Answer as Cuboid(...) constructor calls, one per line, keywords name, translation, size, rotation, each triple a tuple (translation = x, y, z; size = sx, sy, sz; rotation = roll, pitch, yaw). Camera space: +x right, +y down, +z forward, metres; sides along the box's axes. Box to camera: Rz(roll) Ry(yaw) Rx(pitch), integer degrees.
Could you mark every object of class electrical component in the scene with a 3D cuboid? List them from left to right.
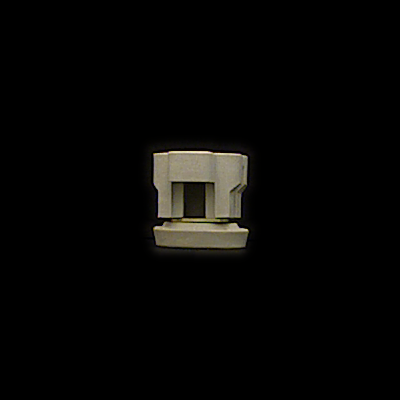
Cuboid(name="electrical component", translation=(0.000, 0.000, 0.658), size=(0.057, 0.057, 0.079), rotation=(1, 0, 10))
